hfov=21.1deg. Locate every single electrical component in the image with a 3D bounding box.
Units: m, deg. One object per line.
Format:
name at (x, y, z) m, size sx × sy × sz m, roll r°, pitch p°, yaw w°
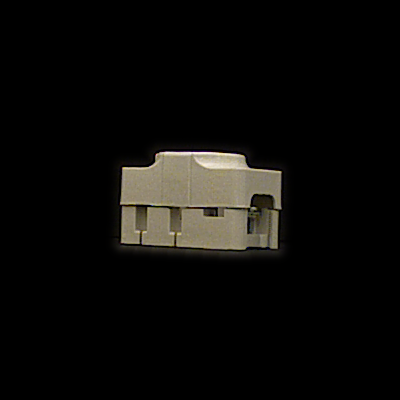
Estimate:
electrical component at (0.000, 0.000, 0.657) m, size 0.089 × 0.056 × 0.050 m, roll 2°, pitch 2°, yaw 34°
